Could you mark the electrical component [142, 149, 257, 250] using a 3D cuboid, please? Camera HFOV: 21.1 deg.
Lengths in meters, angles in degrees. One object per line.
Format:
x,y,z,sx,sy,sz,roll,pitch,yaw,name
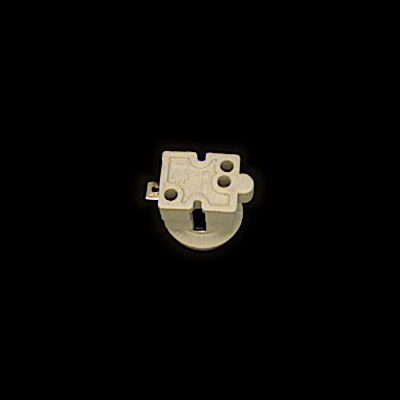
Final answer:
0.000,0.000,0.638,0.066,0.048,0.055,4,-25,3,electrical component
